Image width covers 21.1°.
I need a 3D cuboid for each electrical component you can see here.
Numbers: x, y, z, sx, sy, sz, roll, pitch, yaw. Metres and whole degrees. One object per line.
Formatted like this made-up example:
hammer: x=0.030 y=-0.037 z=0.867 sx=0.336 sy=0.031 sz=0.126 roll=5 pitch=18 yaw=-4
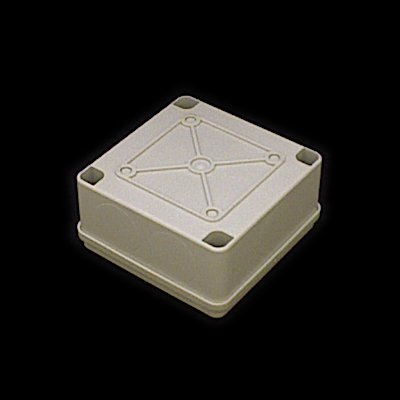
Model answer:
electrical component: x=0.000 y=0.000 z=0.633 sx=0.108 sy=0.057 sz=0.108 roll=26 pitch=47 yaw=26
